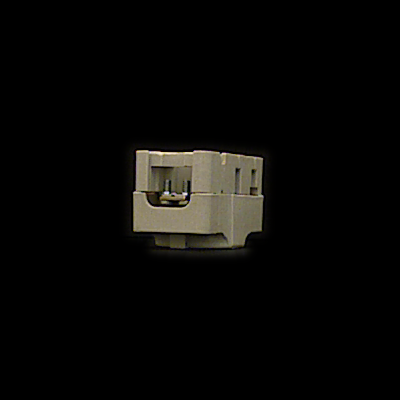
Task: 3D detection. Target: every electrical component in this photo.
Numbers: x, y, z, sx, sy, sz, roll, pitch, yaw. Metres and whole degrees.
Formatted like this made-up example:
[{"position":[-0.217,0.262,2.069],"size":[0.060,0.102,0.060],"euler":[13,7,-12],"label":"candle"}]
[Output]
[{"position":[0.000,0.000,0.656],"size":[0.050,0.056,0.090],"euler":[3,2,24],"label":"electrical component"}]
